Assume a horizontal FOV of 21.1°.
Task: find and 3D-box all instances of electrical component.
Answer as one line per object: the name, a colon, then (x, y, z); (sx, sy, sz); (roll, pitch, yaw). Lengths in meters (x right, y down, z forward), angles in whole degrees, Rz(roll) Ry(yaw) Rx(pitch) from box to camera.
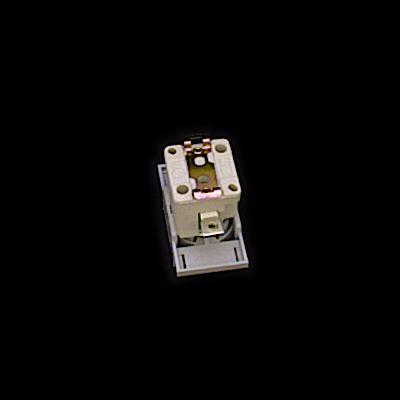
electrical component: (0.000, 0.000, 0.627); (0.042, 0.080, 0.064); (-8, -37, -6)
